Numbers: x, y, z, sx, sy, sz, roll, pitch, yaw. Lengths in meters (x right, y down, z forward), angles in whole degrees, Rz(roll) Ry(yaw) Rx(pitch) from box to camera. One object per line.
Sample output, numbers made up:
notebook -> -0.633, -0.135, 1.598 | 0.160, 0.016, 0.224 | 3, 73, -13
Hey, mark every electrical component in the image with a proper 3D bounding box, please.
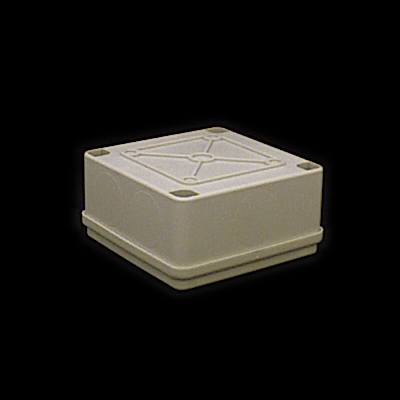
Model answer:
electrical component -> 0.000, 0.000, 0.642 | 0.109, 0.057, 0.107 | -13, 25, -34
